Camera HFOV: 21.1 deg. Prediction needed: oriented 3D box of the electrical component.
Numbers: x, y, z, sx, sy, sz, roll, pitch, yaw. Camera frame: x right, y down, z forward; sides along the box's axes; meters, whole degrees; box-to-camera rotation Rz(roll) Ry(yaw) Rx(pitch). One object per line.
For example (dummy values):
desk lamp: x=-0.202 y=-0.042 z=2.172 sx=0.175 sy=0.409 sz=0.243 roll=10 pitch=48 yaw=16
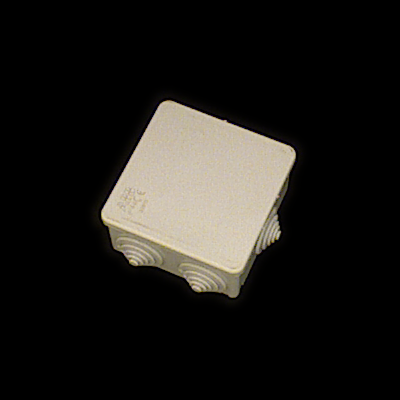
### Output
electrical component: x=0.000 y=0.000 z=0.639 sx=0.099 sy=0.100 sz=0.048 roll=22 pitch=-24 yaw=10
